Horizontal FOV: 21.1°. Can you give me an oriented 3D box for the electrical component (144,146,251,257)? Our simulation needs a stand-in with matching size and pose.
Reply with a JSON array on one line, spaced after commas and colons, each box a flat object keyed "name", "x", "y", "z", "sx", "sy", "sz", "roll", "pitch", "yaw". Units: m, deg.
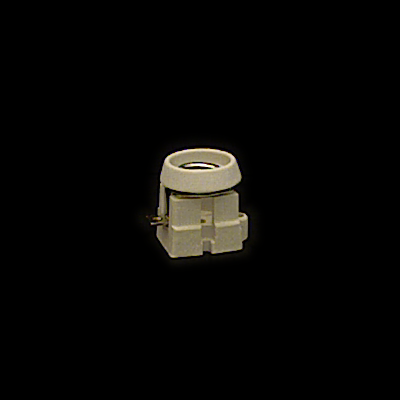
[{"name": "electrical component", "x": 0.000, "y": 0.000, "z": 0.645, "sx": 0.067, "sy": 0.056, "sz": 0.047, "roll": -7, "pitch": 21, "yaw": -19}]
